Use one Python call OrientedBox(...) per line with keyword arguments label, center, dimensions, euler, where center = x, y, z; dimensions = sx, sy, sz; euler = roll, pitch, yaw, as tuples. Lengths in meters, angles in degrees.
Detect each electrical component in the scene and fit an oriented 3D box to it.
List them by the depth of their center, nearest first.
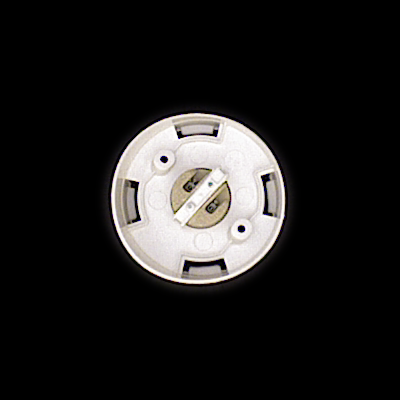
OrientedBox(label="electrical component", center=(0.000, 0.000, 0.624), dimensions=(0.099, 0.099, 0.064), euler=(0, -6, 0))
